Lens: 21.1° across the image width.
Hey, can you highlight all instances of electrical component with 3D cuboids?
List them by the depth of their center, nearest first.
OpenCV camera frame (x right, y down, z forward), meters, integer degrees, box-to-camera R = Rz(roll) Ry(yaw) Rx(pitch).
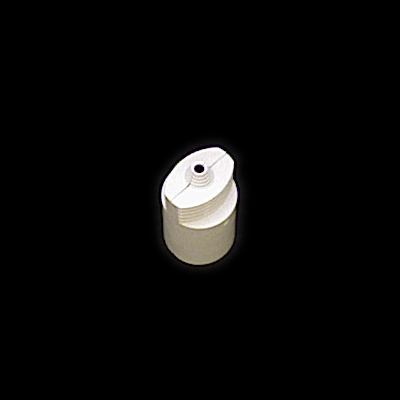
[{"bbox_3d":[0.000,0.000,0.617,0.043,0.043,0.081,0,-27,0],"label":"electrical component"}]
